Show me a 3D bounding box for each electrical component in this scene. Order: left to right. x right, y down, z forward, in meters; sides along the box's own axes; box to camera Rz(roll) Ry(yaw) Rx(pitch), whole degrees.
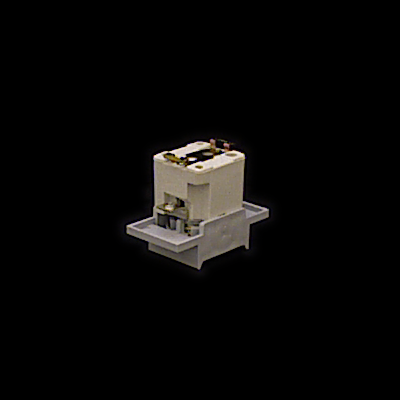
[{"bbox_3d":[0.000,0.000,0.637,0.042,0.064,0.080,19,27,38],"label":"electrical component"}]
